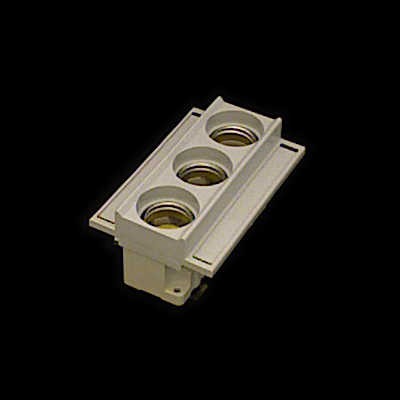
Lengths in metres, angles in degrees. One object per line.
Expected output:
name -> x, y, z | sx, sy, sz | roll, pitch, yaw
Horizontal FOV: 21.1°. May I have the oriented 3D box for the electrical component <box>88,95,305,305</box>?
electrical component -> 0.000, 0.000, 0.643 | 0.078, 0.064, 0.120 | 22, 46, 20
